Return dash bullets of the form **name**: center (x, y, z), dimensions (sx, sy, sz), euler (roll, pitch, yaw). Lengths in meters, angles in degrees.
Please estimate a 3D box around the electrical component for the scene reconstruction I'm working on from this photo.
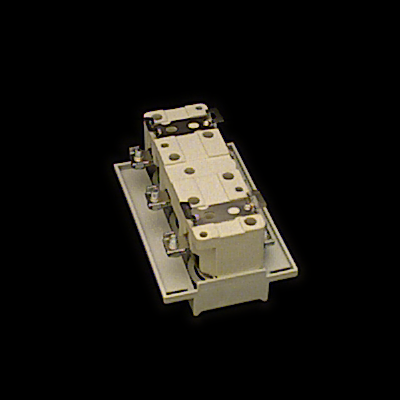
- **electrical component**: center (0.000, 0.000, 0.639), dimensions (0.079, 0.063, 0.119), euler (-11, 44, -13)
